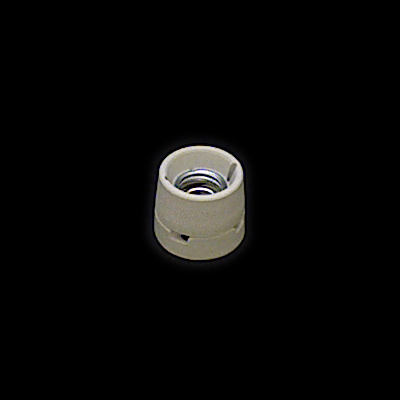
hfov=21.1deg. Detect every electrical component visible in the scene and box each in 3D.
[{"bbox_3d":[0.000,0.000,0.636,0.055,0.047,0.055,1,42,-1],"label":"electrical component"}]
